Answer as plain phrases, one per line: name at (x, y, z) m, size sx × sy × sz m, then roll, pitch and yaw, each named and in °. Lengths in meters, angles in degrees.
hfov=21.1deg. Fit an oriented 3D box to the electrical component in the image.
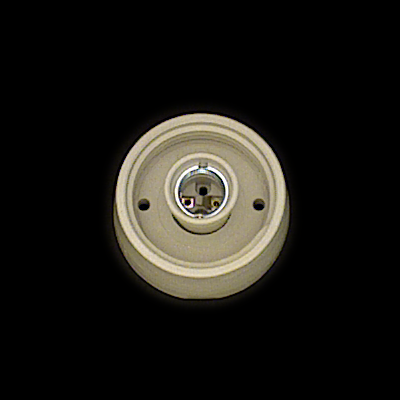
electrical component at (0.000, 0.000, 0.633) m, size 0.108 × 0.108 × 0.060 m, roll 0°, pitch -16°, yaw 0°
